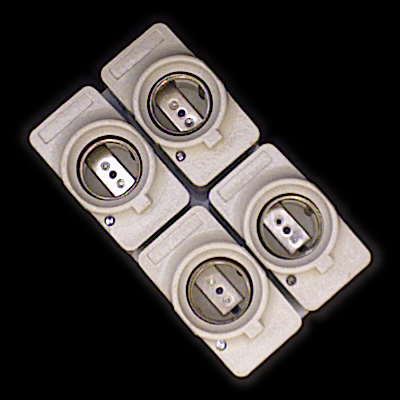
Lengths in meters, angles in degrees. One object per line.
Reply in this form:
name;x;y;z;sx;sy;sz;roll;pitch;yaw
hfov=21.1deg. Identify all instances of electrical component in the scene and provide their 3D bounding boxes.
electrical component;0.000;0.000;0.626;0.106;0.186;0.060;-42;-5;-5
